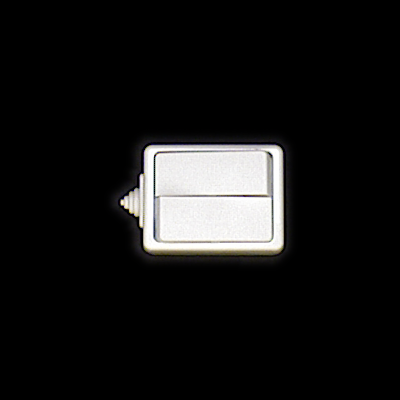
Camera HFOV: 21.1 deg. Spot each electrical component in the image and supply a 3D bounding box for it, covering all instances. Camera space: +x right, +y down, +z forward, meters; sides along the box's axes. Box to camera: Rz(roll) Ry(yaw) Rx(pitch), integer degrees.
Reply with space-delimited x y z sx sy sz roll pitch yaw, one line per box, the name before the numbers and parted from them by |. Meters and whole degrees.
electrical component | 0.000 0.000 0.627 0.096 0.062 0.061 0 -7 0
